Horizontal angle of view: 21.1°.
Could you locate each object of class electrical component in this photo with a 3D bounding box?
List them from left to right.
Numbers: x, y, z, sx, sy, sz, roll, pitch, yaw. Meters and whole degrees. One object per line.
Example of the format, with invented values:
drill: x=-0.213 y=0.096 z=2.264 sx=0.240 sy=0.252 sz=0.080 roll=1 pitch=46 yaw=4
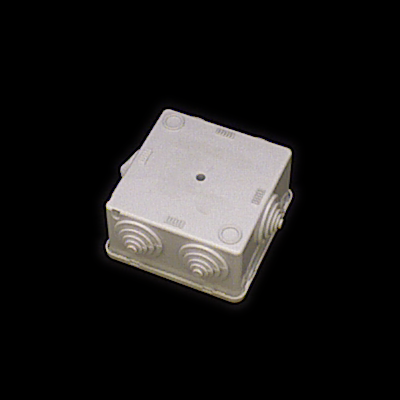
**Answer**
electrical component: x=0.000 y=0.000 z=0.632 sx=0.099 sy=0.099 sz=0.049 roll=19 pitch=-35 yaw=13
